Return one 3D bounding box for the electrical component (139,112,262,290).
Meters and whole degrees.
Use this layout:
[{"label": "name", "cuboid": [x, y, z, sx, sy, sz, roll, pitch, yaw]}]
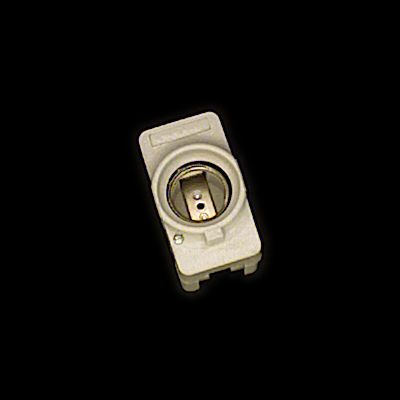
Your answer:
[{"label": "electrical component", "cuboid": [0.000, 0.000, 0.636, 0.050, 0.090, 0.055, -17, -16, -4]}]
